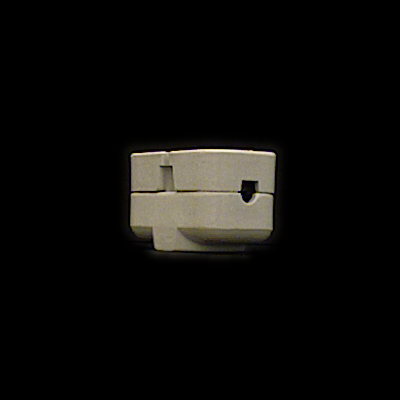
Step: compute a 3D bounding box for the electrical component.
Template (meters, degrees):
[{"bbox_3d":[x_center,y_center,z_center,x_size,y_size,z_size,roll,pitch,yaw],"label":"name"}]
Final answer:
[{"bbox_3d":[0.000,0.000,0.659,0.054,0.059,0.094,0,1,-38],"label":"electrical component"}]
